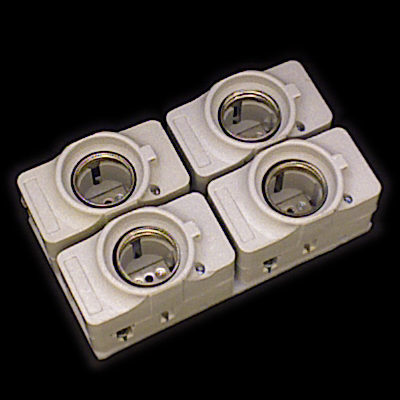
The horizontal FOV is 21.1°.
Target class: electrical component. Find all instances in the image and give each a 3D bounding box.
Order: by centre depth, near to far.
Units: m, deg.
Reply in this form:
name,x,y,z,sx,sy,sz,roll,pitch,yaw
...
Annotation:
name,x,y,z,sx,sy,sz,roll,pitch,yaw
electrical component,0.000,0.000,0.626,0.187,0.105,0.060,-24,-25,-13
